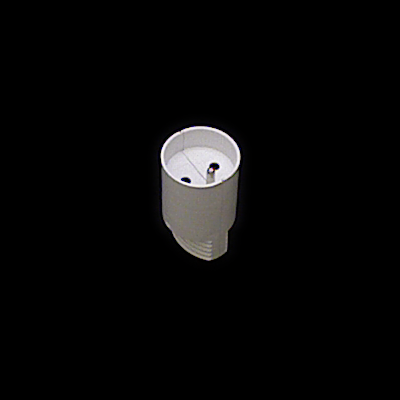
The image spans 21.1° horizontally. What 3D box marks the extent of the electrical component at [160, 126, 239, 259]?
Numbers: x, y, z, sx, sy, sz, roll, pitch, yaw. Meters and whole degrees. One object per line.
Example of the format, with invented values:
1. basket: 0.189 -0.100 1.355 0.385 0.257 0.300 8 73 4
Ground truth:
1. electrical component: 0.000 0.000 0.619 0.043 0.043 0.081 0 -37 0
